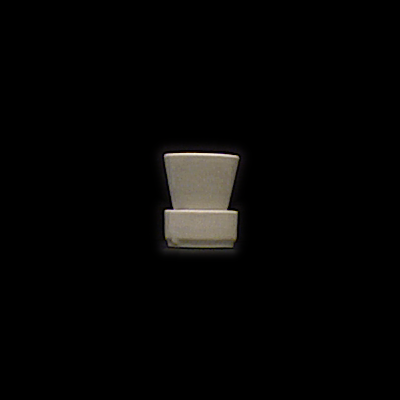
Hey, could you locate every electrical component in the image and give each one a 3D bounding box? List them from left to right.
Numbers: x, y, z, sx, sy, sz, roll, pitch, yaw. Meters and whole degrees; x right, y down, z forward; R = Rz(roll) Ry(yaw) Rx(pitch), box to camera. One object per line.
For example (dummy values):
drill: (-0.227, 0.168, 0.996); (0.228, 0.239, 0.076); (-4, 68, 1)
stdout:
electrical component: (0.000, 0.000, 0.649); (0.045, 0.055, 0.045); (1, 0, 0)
